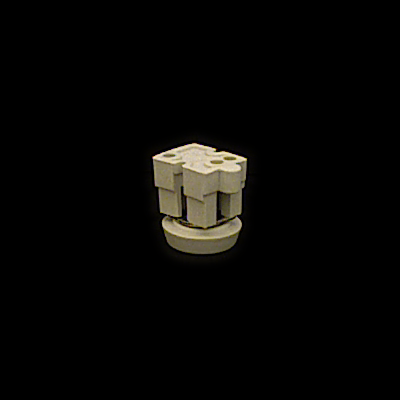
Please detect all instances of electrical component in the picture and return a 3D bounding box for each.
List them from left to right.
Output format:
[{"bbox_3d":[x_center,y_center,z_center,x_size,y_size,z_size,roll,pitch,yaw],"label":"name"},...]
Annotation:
[{"bbox_3d":[0.000,0.000,0.647,0.065,0.056,0.048,20,30,40],"label":"electrical component"}]
